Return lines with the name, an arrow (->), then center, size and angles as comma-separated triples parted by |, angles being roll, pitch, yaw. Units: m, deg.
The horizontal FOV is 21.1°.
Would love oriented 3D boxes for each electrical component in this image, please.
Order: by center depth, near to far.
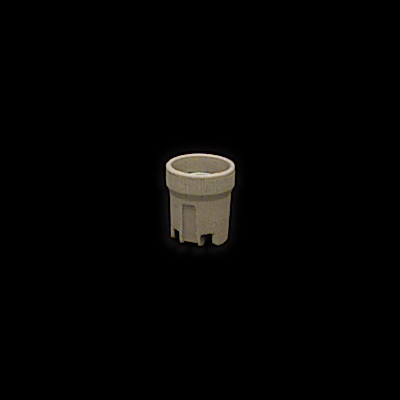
electrical component -> 0.000, 0.000, 0.638 | 0.040, 0.047, 0.039 | 1, 21, 0
